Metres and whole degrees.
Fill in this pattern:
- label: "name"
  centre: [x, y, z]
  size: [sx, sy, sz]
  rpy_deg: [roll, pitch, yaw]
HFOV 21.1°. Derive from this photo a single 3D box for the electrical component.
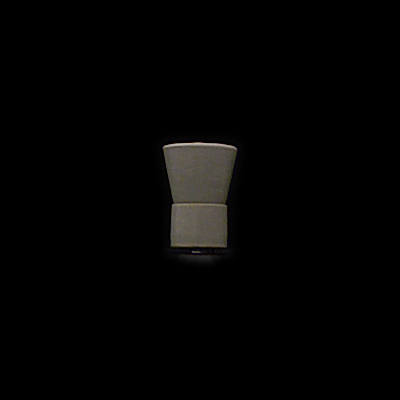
- label: "electrical component"
  centre: [0.000, 0.000, 0.652]
  size: [0.044, 0.065, 0.044]
  rpy_deg: [1, 0, 0]
